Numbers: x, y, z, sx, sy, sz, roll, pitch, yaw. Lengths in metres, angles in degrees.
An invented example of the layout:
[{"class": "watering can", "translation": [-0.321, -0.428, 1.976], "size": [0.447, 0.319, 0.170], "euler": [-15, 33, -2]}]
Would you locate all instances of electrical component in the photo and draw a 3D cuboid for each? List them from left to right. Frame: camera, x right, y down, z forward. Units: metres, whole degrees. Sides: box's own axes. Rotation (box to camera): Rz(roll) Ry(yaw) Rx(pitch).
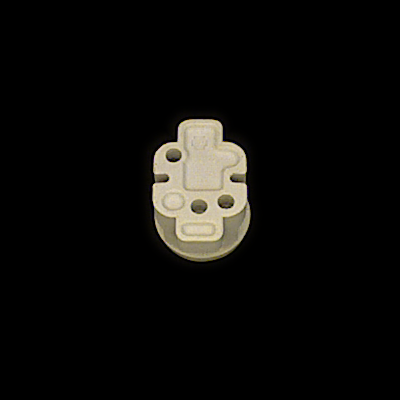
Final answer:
[{"class": "electrical component", "translation": [0.000, 0.000, 0.636], "size": [0.058, 0.078, 0.057], "euler": [-1, -28, 1]}]
